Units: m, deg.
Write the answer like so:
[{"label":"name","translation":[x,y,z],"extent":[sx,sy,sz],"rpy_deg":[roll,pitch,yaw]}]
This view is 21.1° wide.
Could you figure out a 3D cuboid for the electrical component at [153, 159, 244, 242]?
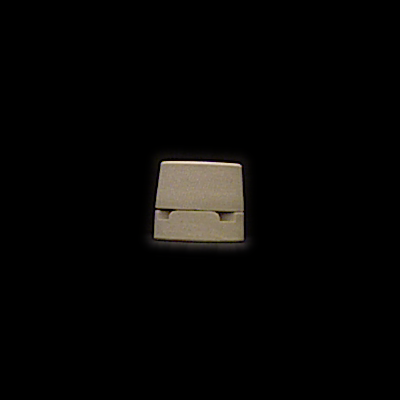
[{"label":"electrical component","translation":[0.000,0.000,0.650],"extent":[0.055,0.047,0.055],"rpy_deg":[2,1,0]}]
